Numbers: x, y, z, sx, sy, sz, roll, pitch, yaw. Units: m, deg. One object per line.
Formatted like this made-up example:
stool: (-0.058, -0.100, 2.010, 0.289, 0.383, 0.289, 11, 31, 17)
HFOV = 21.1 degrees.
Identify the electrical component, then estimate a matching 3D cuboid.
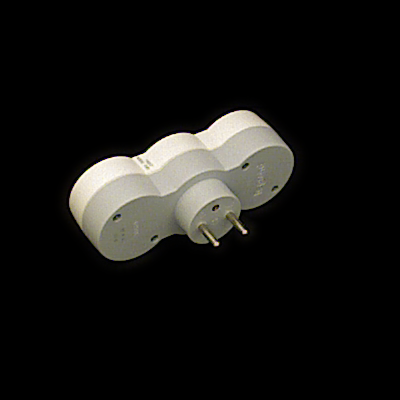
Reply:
electrical component: (0.000, 0.000, 0.638, 0.139, 0.052, 0.073, -22, 49, -23)
